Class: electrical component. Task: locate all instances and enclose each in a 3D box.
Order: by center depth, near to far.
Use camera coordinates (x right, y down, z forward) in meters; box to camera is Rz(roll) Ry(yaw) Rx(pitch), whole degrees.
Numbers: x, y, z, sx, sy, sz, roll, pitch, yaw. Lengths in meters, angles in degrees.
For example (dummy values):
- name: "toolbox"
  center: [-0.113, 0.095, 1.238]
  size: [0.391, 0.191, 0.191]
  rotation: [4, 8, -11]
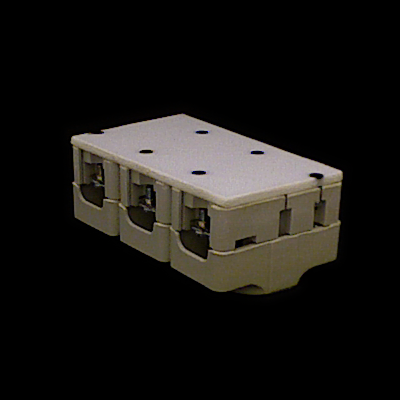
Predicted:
- name: "electrical component"
  center: [0.000, 0.000, 0.644]
  size: [0.089, 0.063, 0.148]
  rotation: [-15, 26, -36]
